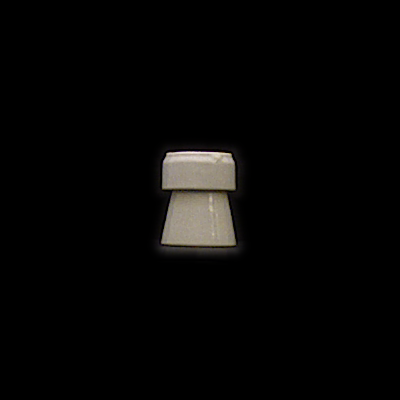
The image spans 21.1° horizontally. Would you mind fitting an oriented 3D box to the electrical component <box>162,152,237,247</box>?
[{"bbox_3d":[0.000,0.000,0.649,0.045,0.055,0.045,1,1,0],"label":"electrical component"}]
